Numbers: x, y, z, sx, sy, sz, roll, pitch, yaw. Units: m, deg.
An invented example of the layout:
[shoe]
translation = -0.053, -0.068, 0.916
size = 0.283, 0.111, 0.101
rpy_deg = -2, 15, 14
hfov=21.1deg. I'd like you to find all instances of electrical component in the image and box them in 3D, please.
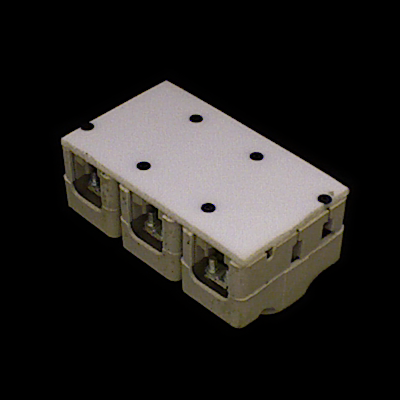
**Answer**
[electrical component]
translation = 0.000, 0.000, 0.637
size = 0.089, 0.063, 0.148
rpy_deg = -33, 51, -32
